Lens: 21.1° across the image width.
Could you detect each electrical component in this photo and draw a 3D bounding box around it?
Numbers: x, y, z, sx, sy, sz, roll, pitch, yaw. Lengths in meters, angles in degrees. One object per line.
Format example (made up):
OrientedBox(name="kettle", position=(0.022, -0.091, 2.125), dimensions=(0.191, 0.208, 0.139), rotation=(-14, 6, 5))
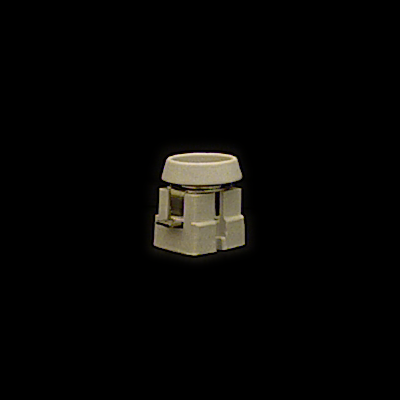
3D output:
OrientedBox(name="electrical component", position=(0.000, 0.000, 0.650), dimensions=(0.048, 0.056, 0.067), rotation=(9, 14, 42))
